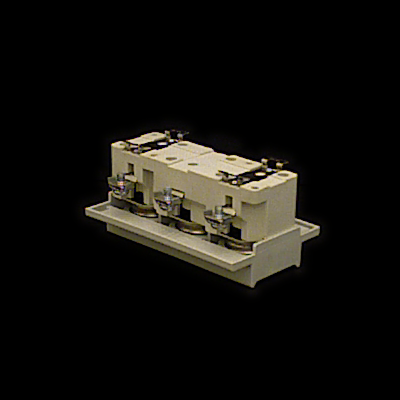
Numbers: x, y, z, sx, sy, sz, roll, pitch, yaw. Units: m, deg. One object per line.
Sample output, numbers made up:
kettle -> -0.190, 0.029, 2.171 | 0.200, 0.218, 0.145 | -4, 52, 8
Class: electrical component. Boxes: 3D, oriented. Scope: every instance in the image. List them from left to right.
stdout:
electrical component -> 0.000, 0.000, 0.648 | 0.120, 0.064, 0.079 | 19, 28, 38
